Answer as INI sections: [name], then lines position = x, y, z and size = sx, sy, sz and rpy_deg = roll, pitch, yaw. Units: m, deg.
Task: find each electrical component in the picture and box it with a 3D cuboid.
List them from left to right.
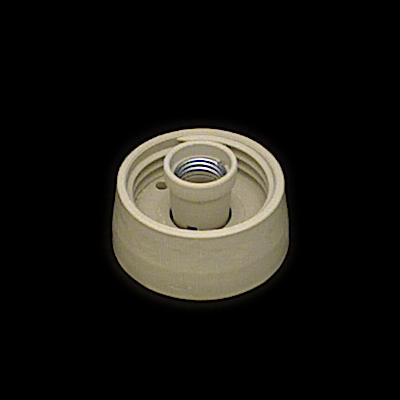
[electrical component]
position = 0.000, 0.000, 0.639
size = 0.108, 0.061, 0.106
rpy_deg = 1, 42, 0
